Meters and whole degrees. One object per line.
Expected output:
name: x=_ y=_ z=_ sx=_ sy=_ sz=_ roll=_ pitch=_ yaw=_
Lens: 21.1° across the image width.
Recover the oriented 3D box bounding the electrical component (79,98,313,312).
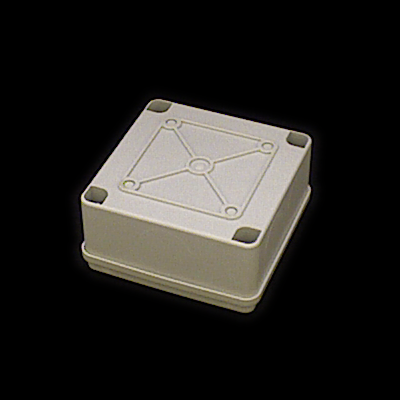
electrical component: x=0.000 y=0.000 z=0.630 sx=0.108 sy=0.056 sz=0.108 roll=15 pitch=44 yaw=16
